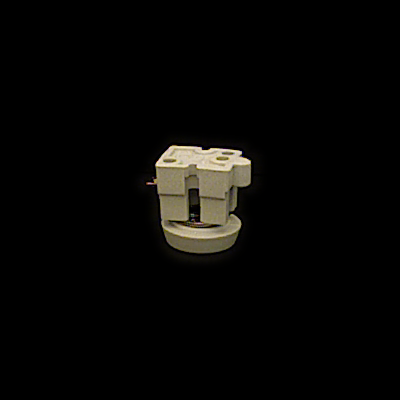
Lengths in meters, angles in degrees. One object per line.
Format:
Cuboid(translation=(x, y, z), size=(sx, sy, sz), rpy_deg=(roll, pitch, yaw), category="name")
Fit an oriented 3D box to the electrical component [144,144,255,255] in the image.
Cuboid(translation=(0.000, 0.000, 0.648), size=(0.066, 0.056, 0.048), rpy_deg=(5, 24, 13), category="electrical component")
